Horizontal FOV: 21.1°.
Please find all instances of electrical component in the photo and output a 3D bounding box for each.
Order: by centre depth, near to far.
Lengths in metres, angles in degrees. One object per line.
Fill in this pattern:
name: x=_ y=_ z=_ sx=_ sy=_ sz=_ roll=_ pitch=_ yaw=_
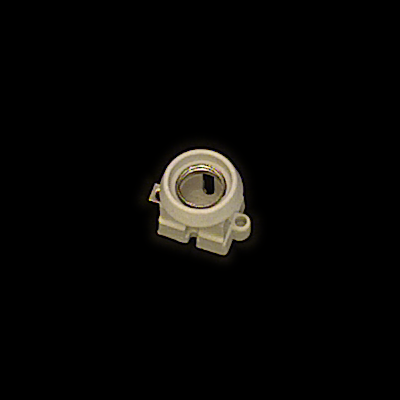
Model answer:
electrical component: x=0.000 y=0.000 z=0.637 sx=0.066 sy=0.048 sz=0.055 roll=17 pitch=-27 yaw=8
